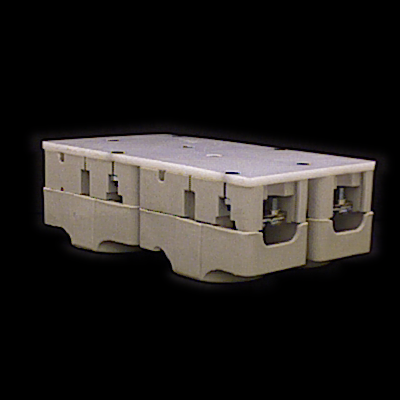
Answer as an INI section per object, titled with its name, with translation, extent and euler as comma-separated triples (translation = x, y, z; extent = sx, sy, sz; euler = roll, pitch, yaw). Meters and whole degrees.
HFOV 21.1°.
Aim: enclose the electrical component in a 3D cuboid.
[electrical component]
translation = 0.000, 0.000, 0.644
extent = 0.105, 0.061, 0.185
euler = -8, 14, -43
